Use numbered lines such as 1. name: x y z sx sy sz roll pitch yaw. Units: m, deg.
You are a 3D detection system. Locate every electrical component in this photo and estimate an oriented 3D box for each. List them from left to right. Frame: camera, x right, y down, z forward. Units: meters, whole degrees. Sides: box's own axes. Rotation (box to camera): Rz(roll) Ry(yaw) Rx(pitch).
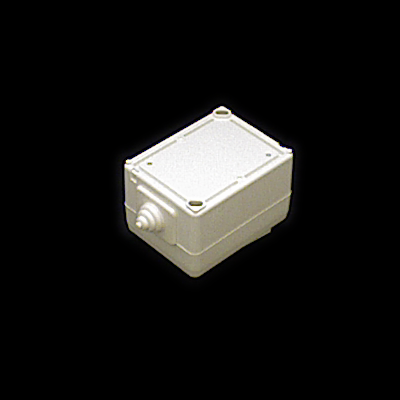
1. electrical component: 0.000 0.000 0.625 0.096 0.061 0.061 -32 52 -32
